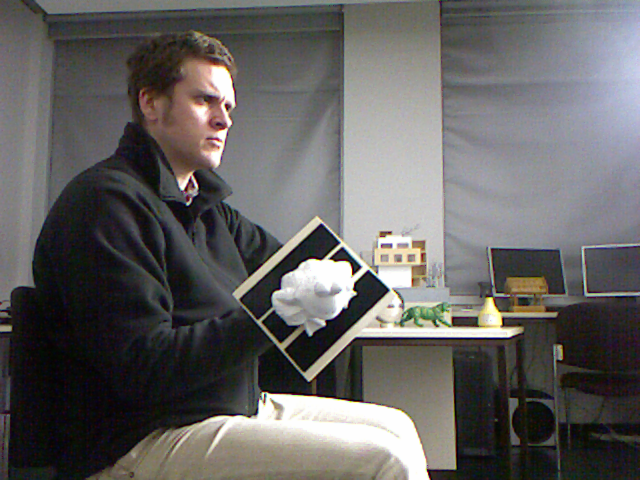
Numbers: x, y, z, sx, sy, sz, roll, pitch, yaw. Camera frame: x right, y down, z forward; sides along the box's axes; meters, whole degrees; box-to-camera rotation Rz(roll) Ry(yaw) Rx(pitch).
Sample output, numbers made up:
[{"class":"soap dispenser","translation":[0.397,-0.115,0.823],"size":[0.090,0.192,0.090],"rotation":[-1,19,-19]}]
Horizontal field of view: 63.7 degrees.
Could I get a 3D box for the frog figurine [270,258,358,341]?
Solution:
[{"class":"frog figurine","translation":[-0.012,0.079,0.790],"size":[0.138,0.125,0.157],"rotation":[-22,-23,2]}]
